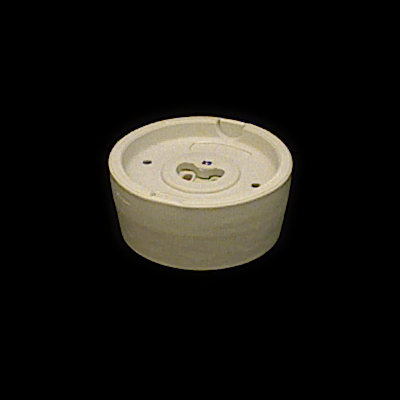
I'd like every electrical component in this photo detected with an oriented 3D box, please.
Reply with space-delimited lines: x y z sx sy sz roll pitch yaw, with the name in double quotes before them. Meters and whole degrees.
"electrical component" 0.000 0.000 0.645 0.108 0.061 0.106 1 32 0
